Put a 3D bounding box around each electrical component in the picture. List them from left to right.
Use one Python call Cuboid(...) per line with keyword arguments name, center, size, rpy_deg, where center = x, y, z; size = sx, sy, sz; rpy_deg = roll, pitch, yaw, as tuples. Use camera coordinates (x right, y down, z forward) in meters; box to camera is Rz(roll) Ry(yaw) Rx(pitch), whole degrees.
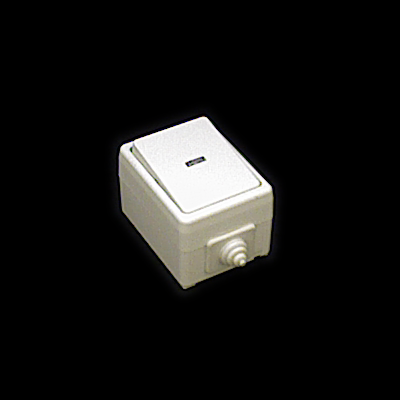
Cuboid(name="electrical component", center=(0.000, 0.000, 0.629), size=(0.062, 0.061, 0.095), rpy_deg=(-21, 46, -22))
